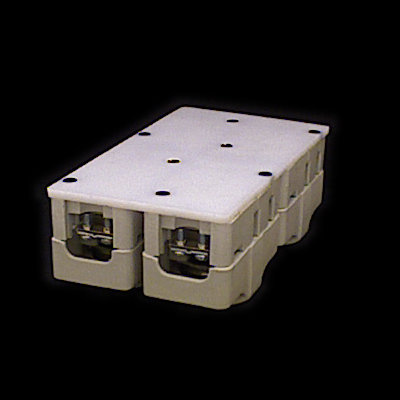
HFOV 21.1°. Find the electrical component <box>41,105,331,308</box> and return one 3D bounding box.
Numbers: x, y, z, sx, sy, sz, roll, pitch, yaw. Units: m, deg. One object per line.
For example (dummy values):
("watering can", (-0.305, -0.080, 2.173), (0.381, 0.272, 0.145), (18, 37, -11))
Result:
("electrical component", (0.000, 0.000, 0.638), (0.105, 0.061, 0.184), (9, 22, 21))
